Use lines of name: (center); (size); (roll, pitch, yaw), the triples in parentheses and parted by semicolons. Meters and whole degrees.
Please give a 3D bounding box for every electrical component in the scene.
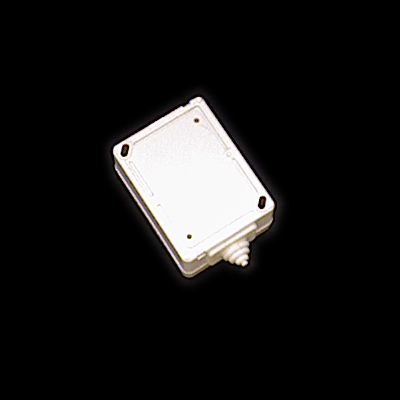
electrical component: (0.000, 0.000, 0.627); (0.062, 0.096, 0.060); (-32, -14, -9)
